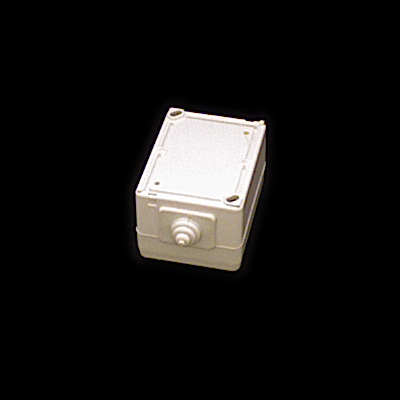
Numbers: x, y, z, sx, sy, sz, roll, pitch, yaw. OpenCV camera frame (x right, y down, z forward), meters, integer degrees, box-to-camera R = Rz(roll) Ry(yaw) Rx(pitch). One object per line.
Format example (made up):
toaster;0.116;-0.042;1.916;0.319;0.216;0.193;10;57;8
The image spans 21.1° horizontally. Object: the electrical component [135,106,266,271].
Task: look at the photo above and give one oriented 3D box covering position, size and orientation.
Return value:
electrical component;0.000;0.000;0.630;0.061;0.061;0.096;9;43;9
